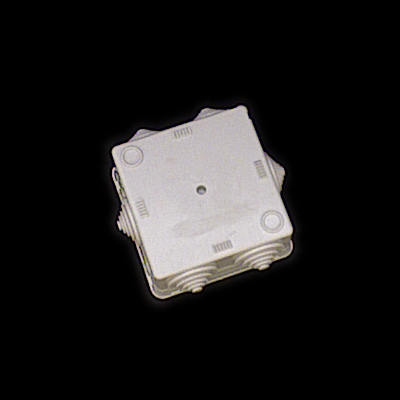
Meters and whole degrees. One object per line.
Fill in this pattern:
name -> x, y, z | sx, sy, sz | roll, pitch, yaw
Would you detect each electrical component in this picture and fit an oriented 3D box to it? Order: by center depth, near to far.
electrical component -> 0.000, 0.000, 0.632 | 0.100, 0.100, 0.048 | -18, -16, -5
